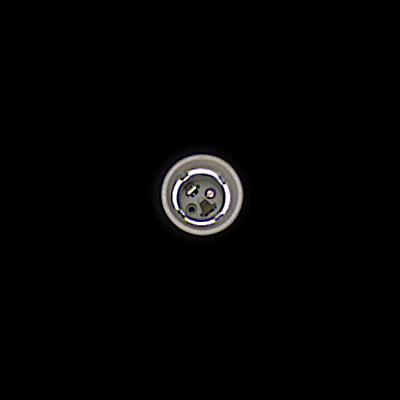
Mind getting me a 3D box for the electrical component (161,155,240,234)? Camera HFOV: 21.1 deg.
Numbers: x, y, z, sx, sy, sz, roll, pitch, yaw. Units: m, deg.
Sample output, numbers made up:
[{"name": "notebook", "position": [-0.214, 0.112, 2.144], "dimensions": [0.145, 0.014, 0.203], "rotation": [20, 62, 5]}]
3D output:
[{"name": "electrical component", "position": [0.000, 0.000, 0.625], "dimensions": [0.044, 0.044, 0.065], "rotation": [0, -7, 0]}]
